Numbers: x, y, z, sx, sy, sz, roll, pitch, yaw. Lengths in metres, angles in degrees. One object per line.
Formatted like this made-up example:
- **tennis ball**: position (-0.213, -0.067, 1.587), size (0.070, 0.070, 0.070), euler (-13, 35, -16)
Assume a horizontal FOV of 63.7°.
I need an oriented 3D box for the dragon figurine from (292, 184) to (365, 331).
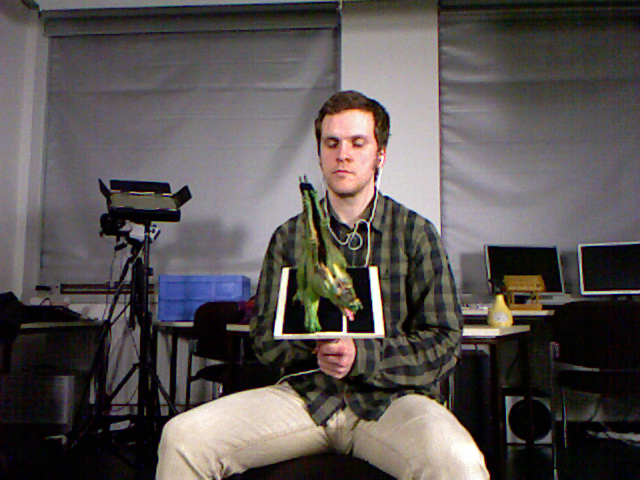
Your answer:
- **dragon figurine**: position (-0.006, 0.002, 0.952), size (0.123, 0.237, 0.421), euler (-13, 42, -11)
